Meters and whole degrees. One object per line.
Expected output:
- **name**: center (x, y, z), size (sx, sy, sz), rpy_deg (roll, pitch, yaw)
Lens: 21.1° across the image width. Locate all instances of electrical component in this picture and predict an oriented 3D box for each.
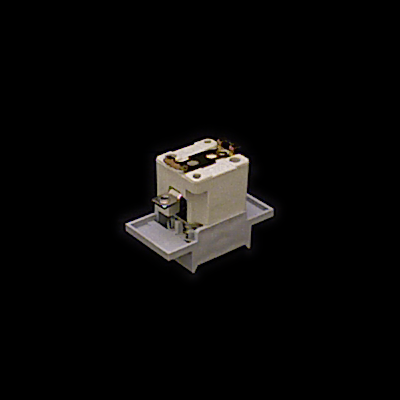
- **electrical component**: center (0.000, 0.000, 0.634), size (0.080, 0.064, 0.042), rpy_deg (-23, 39, -33)
